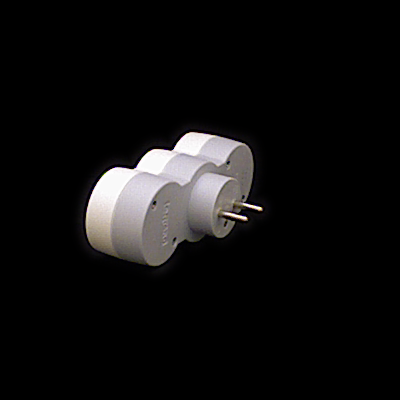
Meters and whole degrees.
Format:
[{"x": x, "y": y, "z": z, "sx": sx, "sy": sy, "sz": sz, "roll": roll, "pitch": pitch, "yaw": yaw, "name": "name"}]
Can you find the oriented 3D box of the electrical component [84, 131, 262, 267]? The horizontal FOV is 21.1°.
[{"x": 0.000, "y": 0.000, "z": 0.643, "sx": 0.073, "sy": 0.053, "sz": 0.137, "roll": 14, "pitch": 24, "yaw": 26, "name": "electrical component"}]
